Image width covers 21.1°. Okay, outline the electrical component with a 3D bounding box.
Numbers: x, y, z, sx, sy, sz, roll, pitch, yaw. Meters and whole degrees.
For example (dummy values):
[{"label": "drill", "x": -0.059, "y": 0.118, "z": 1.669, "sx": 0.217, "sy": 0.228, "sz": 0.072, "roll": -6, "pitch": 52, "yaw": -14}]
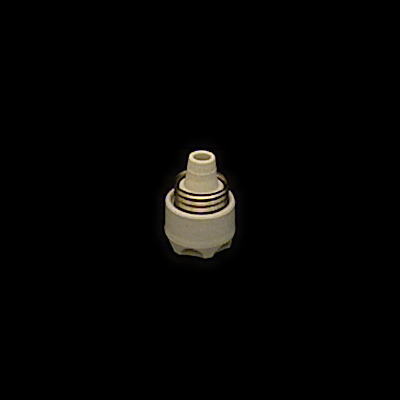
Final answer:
[{"label": "electrical component", "x": 0.000, "y": 0.000, "z": 0.642, "sx": 0.043, "sy": 0.063, "sz": 0.043, "roll": 2, "pitch": 32, "yaw": 0}]
